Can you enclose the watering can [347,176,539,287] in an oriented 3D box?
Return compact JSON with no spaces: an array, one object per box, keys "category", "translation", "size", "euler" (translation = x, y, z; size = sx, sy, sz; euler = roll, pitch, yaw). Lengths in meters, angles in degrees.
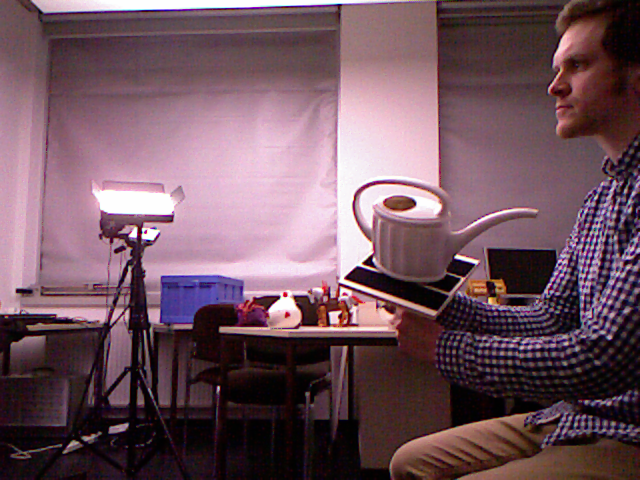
[{"category":"watering can","translation":[0.206,-0.005,0.949],"size":[0.350,0.220,0.106],"euler":[15,39,27]}]
